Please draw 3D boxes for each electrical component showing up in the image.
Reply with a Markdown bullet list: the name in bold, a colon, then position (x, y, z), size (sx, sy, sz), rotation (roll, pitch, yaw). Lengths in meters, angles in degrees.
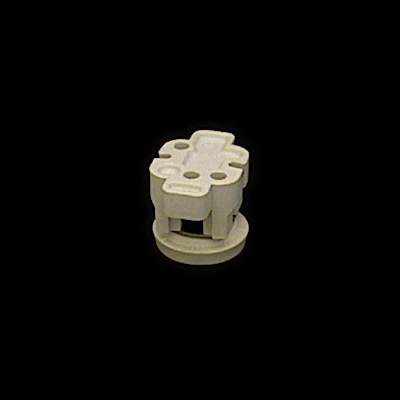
- **electrical component**: position (0.000, 0.000, 0.644), size (0.057, 0.057, 0.078), rotation (7, 31, 11)
